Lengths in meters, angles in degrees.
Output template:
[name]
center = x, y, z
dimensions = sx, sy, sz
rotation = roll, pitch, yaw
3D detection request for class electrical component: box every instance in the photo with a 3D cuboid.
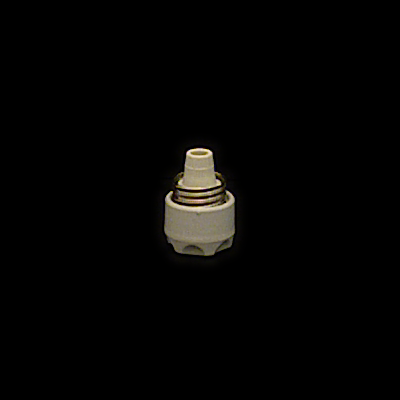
[electrical component]
center = 0.000, 0.000, 0.645
dimensions = 0.043, 0.063, 0.043
rotation = 0, 23, 0
